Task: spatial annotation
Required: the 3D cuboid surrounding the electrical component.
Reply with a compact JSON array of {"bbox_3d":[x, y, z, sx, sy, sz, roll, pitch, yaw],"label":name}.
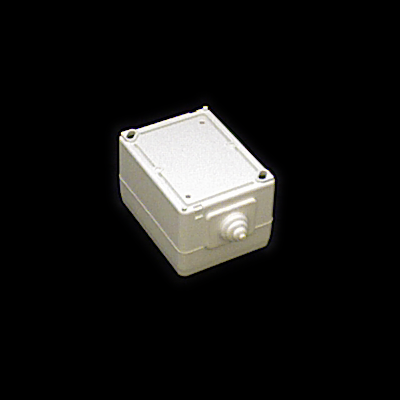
[{"bbox_3d":[0.000,0.000,0.626,0.061,0.061,0.096,-20,45,-22],"label":"electrical component"}]
